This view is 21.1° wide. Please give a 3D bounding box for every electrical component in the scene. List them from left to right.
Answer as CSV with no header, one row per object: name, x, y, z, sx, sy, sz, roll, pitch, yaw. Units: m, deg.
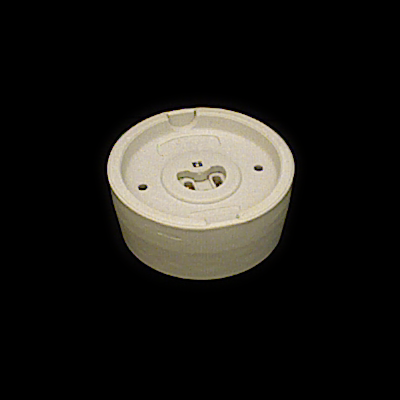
electrical component,0.000,0.000,0.639,0.108,0.061,0.106,1,43,0
